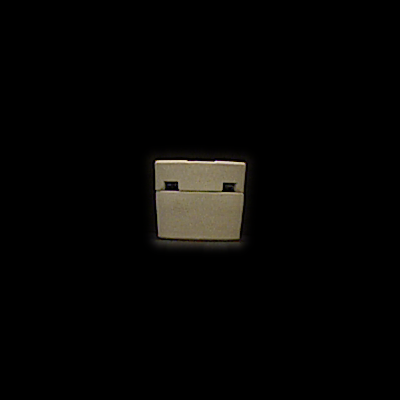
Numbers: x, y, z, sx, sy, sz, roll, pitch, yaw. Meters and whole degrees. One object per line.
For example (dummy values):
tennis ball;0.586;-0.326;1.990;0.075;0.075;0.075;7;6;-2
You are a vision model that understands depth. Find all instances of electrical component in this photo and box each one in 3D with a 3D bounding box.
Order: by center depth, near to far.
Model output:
electrical component;0.000;0.000;0.649;0.055;0.047;0.055;1;0;0
